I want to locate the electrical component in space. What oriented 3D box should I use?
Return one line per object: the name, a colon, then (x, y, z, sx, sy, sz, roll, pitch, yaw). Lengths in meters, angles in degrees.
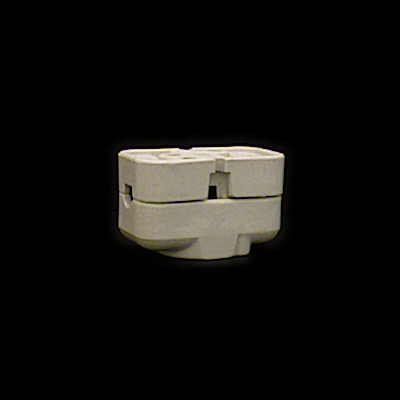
electrical component: (0.000, 0.000, 0.650, 0.096, 0.060, 0.053, -3, 12, -25)
